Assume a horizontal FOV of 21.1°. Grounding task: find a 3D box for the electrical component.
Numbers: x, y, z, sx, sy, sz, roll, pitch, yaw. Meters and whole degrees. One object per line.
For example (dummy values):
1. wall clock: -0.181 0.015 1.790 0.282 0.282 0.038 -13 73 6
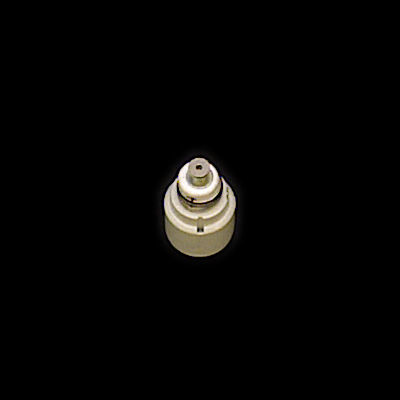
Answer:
1. electrical component: 0.000 0.000 0.618 0.040 0.040 0.078 0 -28 0
